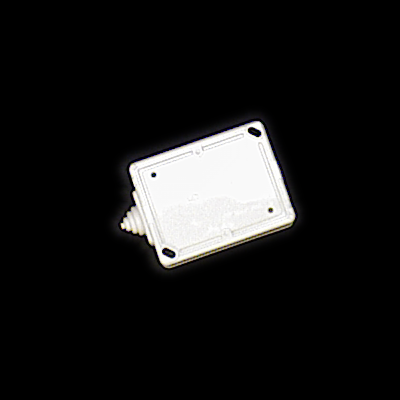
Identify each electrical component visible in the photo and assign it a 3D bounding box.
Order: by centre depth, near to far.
[{"bbox_3d":[0.000,0.000,0.626,0.096,0.062,0.061,-19,-6,-2],"label":"electrical component"}]
